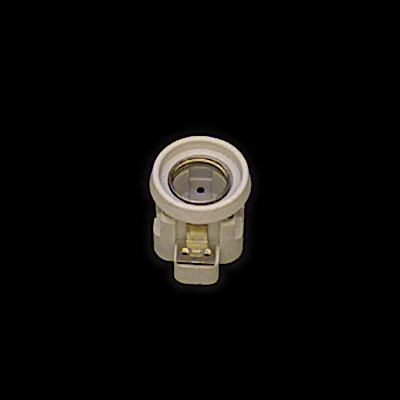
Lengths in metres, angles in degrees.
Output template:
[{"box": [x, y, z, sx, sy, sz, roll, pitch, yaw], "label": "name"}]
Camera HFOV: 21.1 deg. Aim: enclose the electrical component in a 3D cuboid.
[{"box": [0.000, 0.000, 0.628, 0.058, 0.078, 0.057, 3, -37, 1], "label": "electrical component"}]
